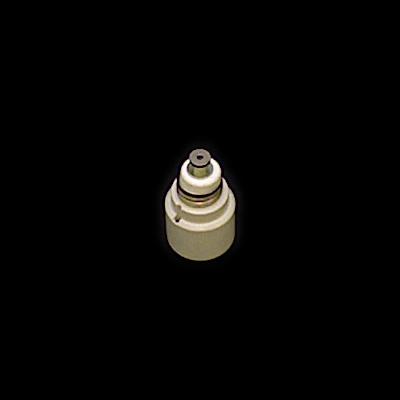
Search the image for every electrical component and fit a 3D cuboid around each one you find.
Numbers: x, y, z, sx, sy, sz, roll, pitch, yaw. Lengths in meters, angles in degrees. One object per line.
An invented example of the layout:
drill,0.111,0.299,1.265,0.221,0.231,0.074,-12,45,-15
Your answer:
electrical component,0.000,0.000,0.622,0.040,0.040,0.079,0,-37,0
